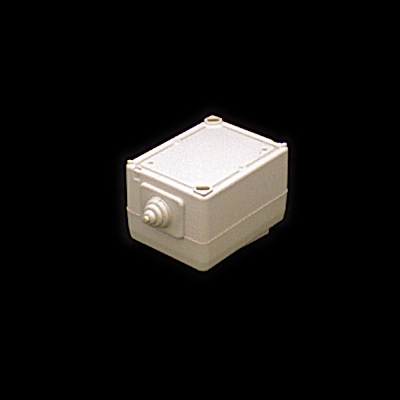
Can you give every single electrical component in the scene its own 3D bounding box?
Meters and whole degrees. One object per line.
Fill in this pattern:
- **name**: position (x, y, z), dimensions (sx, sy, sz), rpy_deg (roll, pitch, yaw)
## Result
- **electrical component**: position (0.000, 0.000, 0.635), dimensions (0.061, 0.061, 0.096), rpy_deg (24, 39, 33)
